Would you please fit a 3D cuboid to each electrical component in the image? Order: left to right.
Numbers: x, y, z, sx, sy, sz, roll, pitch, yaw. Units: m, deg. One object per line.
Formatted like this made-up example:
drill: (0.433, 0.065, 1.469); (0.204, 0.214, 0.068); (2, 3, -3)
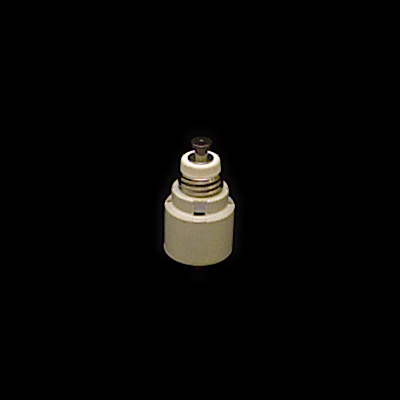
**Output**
electrical component: (0.000, 0.000, 0.629); (0.040, 0.079, 0.039); (2, 31, -1)
